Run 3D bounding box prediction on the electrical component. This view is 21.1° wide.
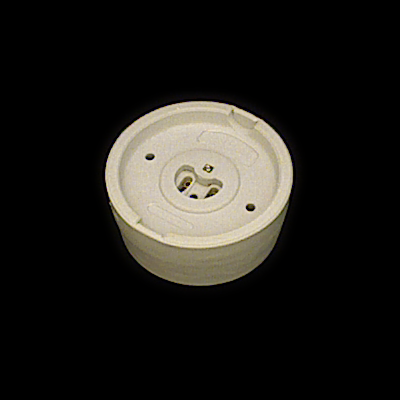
[{"bbox_3d":[0.000,0.000,0.638,0.108,0.107,0.061,0,-37,0],"label":"electrical component"}]
